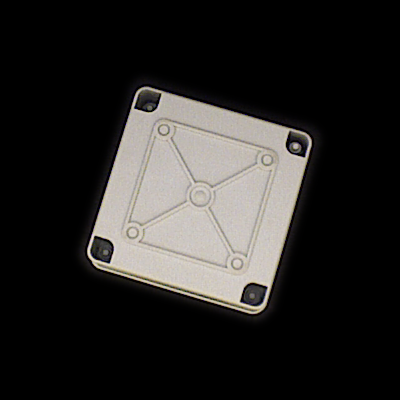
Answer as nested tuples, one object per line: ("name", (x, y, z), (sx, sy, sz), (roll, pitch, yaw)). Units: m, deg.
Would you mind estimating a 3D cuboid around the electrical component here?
("electrical component", (0.000, 0.000, 0.629), (0.109, 0.109, 0.056), (16, -7, 1))
